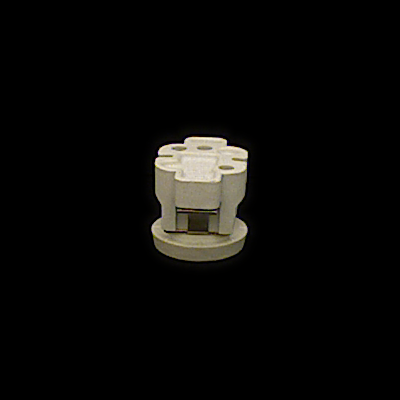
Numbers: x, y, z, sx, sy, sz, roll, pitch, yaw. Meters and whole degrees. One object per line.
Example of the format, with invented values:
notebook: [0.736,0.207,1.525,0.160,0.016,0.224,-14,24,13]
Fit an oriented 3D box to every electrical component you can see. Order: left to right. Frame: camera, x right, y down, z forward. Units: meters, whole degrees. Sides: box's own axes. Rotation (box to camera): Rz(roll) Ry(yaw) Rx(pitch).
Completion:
electrical component: [0.000,0.000,0.645,0.058,0.057,0.077,3,23,2]
